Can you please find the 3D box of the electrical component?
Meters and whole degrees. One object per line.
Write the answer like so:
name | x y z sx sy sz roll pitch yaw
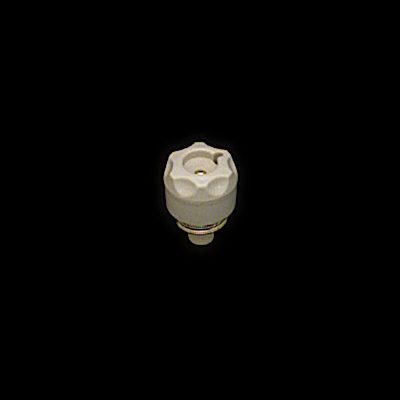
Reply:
electrical component | 0.000 0.000 0.637 0.043 0.062 0.043 0 43 0
